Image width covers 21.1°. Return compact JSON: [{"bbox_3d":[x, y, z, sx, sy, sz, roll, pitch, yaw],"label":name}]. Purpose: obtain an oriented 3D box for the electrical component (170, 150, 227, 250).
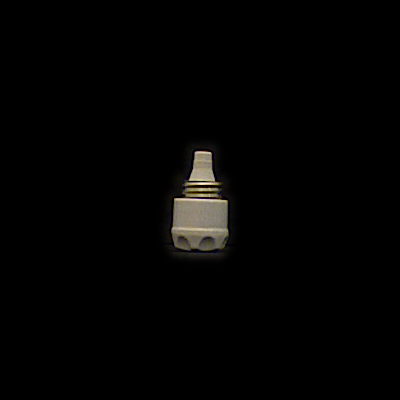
[{"bbox_3d":[0.000,0.000,0.664,0.035,0.061,0.035,3,2,0],"label":"electrical component"}]
